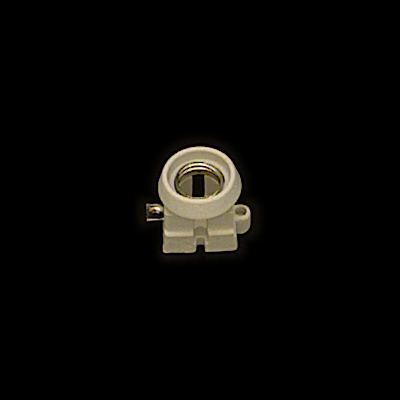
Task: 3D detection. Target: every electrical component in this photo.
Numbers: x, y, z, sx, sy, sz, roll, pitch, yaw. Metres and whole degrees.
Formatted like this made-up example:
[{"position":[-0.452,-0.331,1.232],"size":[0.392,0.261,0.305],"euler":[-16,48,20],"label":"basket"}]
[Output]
[{"position":[0.000,0.000,0.637],"size":[0.066,0.048,0.055],"euler":[-3,-39,-3],"label":"electrical component"}]
